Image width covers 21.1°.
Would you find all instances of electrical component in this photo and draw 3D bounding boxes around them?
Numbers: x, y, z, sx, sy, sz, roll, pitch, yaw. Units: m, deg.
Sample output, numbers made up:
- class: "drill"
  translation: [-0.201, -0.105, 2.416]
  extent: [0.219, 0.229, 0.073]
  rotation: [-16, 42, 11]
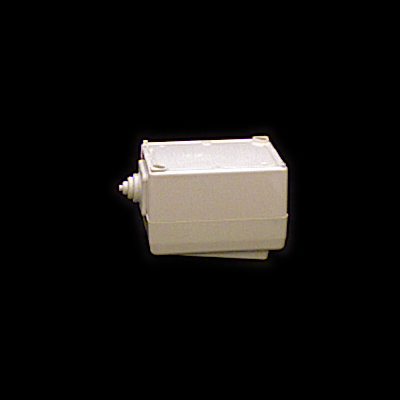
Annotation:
- class: "electrical component"
  translation: [0.000, 0.000, 0.641]
  extent: [0.096, 0.061, 0.061]
  rotation: [-3, 21, -8]
